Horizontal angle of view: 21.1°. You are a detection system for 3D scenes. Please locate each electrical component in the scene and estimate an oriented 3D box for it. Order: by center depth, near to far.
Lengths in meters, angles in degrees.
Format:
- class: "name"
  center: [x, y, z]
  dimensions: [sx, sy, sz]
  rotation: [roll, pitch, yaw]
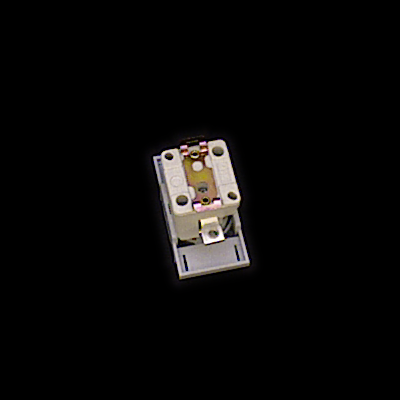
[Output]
- class: "electrical component"
  center: [0.000, 0.000, 0.626]
  dimensions: [0.042, 0.081, 0.063]
  rotation: [-11, -26, -6]
